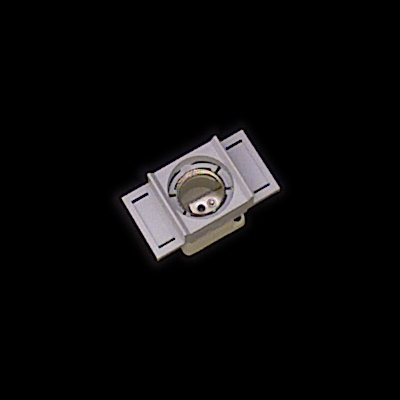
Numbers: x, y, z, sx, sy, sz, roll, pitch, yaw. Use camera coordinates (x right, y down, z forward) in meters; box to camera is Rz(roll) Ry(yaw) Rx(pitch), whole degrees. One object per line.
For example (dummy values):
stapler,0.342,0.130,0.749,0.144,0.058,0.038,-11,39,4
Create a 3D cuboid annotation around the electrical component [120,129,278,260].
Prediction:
electrical component,0.000,0.000,0.624,0.081,0.042,0.063,-29,-16,-8
